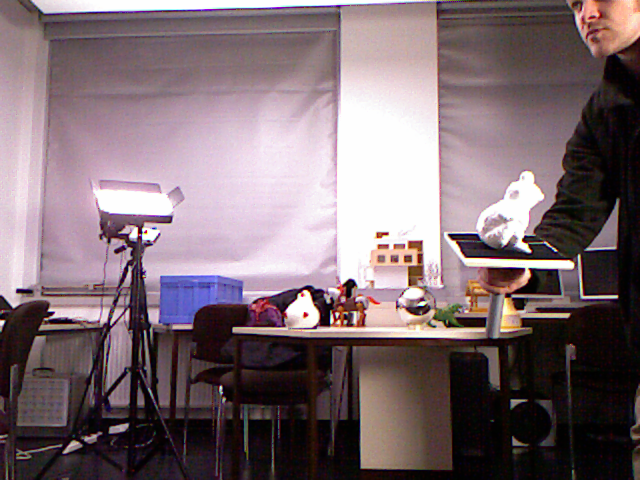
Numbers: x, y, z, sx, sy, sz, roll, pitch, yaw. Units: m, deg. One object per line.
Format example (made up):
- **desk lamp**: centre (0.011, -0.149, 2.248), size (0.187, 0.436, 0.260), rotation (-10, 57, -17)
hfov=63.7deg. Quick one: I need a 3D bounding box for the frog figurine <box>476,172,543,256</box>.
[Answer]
- **frog figurine**: centre (0.393, -0.062, 1.070), size (0.123, 0.157, 0.139), rotation (8, 20, 18)
